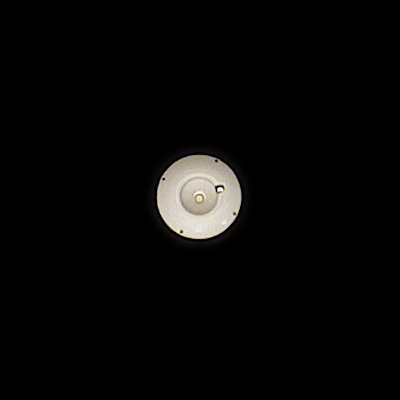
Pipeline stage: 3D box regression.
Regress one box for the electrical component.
[{"bbox_3d":[0.000,0.000,0.634,0.048,0.048,0.062,0,-5,0],"label":"electrical component"}]
